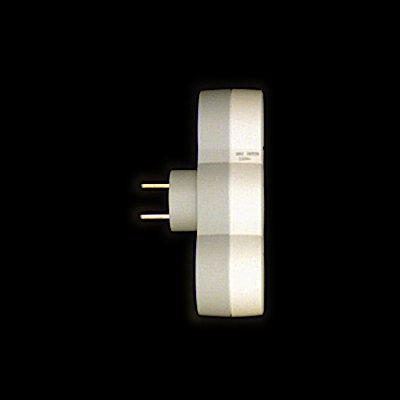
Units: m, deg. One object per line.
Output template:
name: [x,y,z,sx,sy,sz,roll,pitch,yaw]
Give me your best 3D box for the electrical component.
electrical component: [0.000,0.000,0.638,0.074,0.138,0.052,0,-16,2]
